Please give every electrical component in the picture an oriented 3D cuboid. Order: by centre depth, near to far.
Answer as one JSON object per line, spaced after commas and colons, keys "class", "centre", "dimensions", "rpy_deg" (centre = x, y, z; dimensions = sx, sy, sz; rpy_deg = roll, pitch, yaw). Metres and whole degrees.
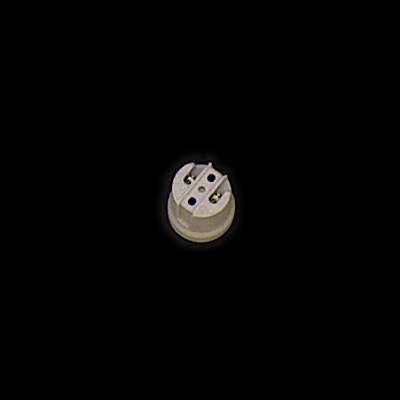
{"class": "electrical component", "centre": [0.000, 0.000, 0.633], "dimensions": [0.040, 0.040, 0.046], "rpy_deg": [0, -16, 0]}
